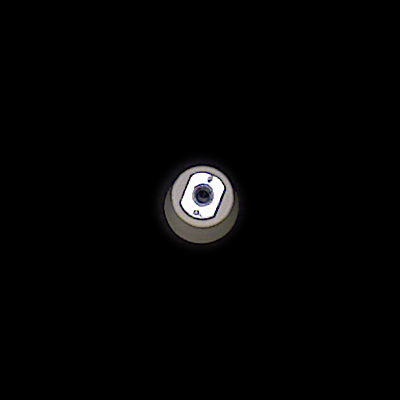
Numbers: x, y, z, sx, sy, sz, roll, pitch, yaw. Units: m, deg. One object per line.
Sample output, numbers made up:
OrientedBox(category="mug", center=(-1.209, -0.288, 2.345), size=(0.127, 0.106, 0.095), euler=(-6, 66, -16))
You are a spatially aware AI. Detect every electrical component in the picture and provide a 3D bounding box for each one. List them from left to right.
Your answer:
OrientedBox(category="electrical component", center=(0.000, 0.000, 0.625), size=(0.044, 0.044, 0.065), euler=(0, -6, -1))
